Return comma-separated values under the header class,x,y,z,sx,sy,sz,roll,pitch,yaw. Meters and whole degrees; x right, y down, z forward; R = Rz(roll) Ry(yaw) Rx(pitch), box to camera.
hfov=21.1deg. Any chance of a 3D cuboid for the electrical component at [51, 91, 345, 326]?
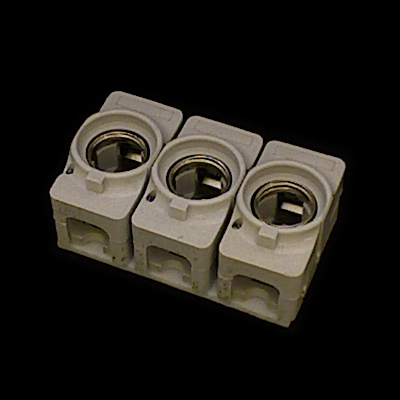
class,x,y,z,sx,sy,sz,roll,pitch,yaw
electrical component,0.000,0.000,0.633,0.150,0.088,0.062,18,-35,13
